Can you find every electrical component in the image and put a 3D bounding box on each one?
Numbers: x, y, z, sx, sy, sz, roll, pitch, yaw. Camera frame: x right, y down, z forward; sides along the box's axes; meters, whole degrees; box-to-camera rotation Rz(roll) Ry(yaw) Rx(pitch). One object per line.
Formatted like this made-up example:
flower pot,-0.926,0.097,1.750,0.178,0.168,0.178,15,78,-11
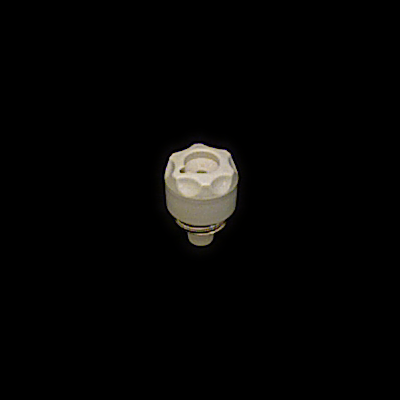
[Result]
electrical component,0.000,0.000,0.639,0.043,0.062,0.043,1,42,0
